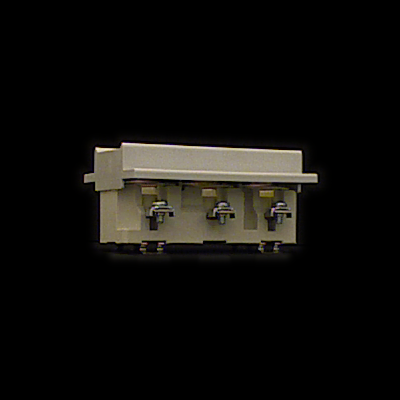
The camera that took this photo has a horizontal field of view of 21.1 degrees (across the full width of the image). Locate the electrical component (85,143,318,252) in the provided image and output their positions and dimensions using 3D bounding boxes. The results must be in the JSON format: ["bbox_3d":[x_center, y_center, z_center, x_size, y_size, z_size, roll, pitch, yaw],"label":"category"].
[{"bbox_3d":[0.000,0.000,0.663,0.122,0.063,0.078,1,-1,-27],"label":"electrical component"}]
